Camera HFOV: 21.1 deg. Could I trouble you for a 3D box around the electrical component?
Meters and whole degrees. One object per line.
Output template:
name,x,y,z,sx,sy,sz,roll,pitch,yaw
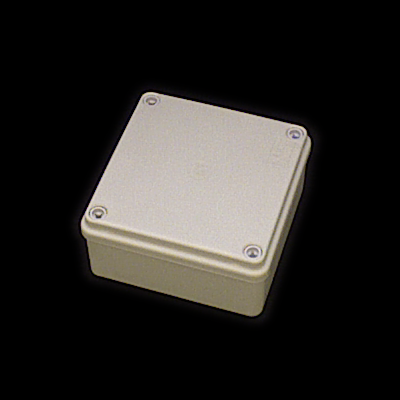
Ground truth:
electrical component,0.000,0.000,0.630,0.108,0.108,0.056,14,-37,11
